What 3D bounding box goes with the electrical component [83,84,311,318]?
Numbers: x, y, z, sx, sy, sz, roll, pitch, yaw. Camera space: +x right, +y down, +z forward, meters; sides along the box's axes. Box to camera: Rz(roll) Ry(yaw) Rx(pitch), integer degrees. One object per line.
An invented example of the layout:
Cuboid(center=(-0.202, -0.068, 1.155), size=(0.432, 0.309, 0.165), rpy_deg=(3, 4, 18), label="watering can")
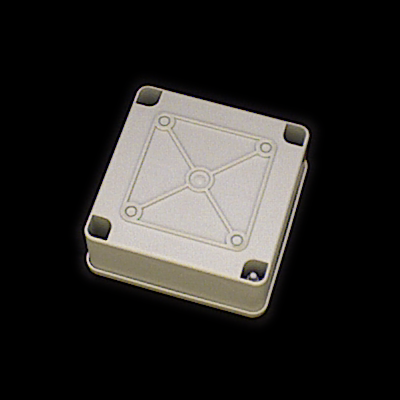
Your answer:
Cuboid(center=(0.000, 0.000, 0.627), size=(0.109, 0.109, 0.056), rpy_deg=(15, -26, 7), label="electrical component")
